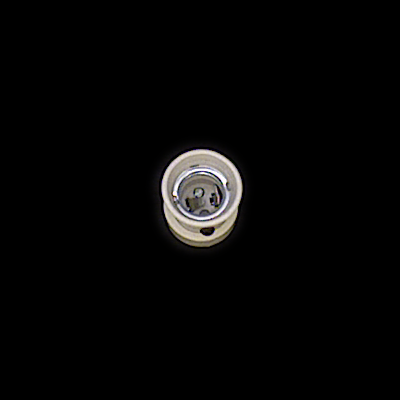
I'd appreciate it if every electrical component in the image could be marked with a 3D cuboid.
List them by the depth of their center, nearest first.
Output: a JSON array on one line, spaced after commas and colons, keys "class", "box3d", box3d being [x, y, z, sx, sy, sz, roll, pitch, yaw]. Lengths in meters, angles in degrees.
[{"class": "electrical component", "box3d": [0.000, 0.000, 0.628, 0.045, 0.045, 0.055, 0, -16, 0]}]
